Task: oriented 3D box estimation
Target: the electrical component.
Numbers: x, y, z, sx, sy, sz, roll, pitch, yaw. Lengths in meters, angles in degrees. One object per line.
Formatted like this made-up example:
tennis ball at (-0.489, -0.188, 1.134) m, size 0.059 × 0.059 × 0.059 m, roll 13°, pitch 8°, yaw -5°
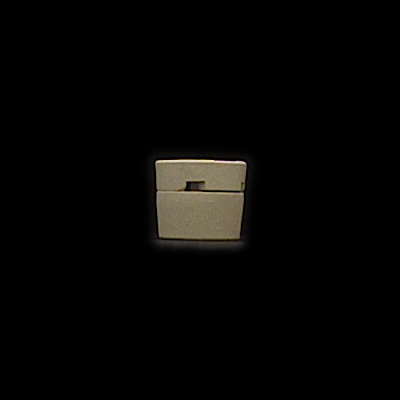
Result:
electrical component at (0.000, 0.000, 0.650) m, size 0.055 × 0.047 × 0.055 m, roll 2°, pitch 1°, yaw 0°
